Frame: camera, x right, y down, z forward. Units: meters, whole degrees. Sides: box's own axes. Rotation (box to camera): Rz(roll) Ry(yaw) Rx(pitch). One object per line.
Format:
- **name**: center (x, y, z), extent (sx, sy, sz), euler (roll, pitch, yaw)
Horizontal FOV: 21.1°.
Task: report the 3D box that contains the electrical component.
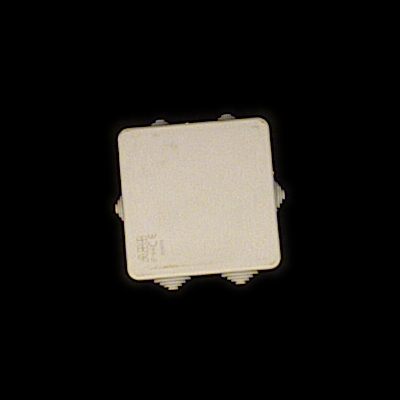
- **electrical component**: center (0.000, 0.000, 0.642), extent (0.100, 0.100, 0.048), euler (-5, -6, -1)
